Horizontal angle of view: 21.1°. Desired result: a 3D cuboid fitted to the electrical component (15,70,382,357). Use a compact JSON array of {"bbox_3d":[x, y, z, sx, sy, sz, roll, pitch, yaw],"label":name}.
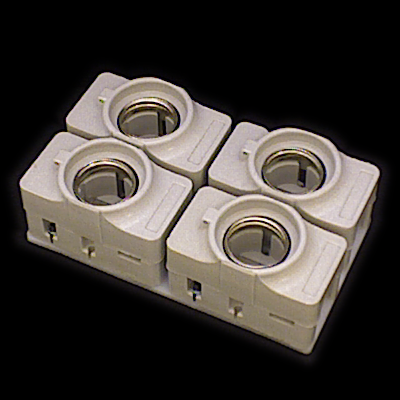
[{"bbox_3d":[0.000,0.000,0.627,0.186,0.105,0.060,21,-35,15],"label":"electrical component"}]
